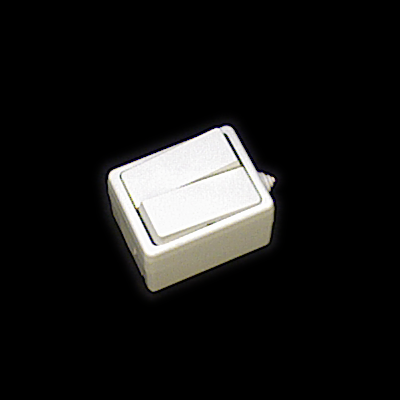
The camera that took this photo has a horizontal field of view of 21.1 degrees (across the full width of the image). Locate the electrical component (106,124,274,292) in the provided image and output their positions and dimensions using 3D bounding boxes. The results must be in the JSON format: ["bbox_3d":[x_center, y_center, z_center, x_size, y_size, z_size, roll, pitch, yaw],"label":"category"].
[{"bbox_3d":[0.000,0.000,0.627,0.096,0.062,0.061,-22,-26,-11],"label":"electrical component"}]
